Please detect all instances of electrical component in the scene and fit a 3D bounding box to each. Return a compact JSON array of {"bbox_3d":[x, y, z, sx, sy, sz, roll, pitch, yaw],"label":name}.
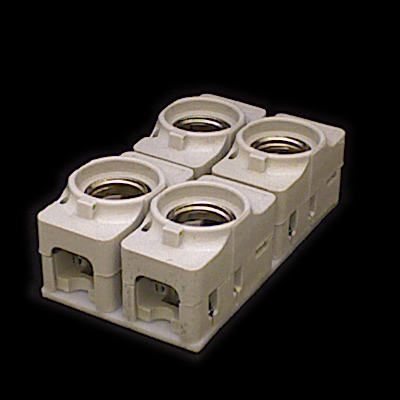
[{"bbox_3d":[0.000,0.000,0.633,0.105,0.061,0.185,18,35,25],"label":"electrical component"}]
